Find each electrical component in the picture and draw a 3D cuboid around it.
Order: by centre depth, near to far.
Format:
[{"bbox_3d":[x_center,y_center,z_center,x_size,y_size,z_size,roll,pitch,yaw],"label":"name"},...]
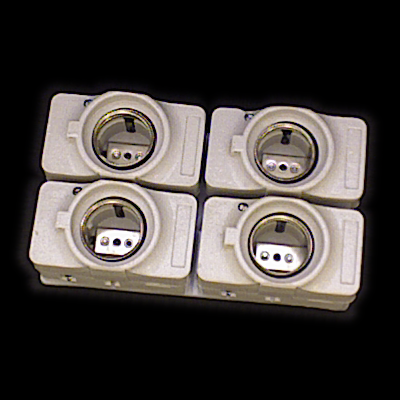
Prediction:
[{"bbox_3d":[0.000,0.000,0.625,0.186,0.106,0.060,5,-17,2],"label":"electrical component"}]
